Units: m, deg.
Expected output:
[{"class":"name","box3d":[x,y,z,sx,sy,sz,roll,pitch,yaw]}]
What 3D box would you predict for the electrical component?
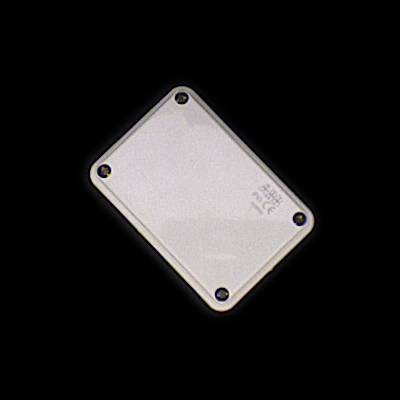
[{"class":"electrical component","box3d":[0.000,0.000,0.628,0.078,0.113,0.057,-44,-5,-4]}]
